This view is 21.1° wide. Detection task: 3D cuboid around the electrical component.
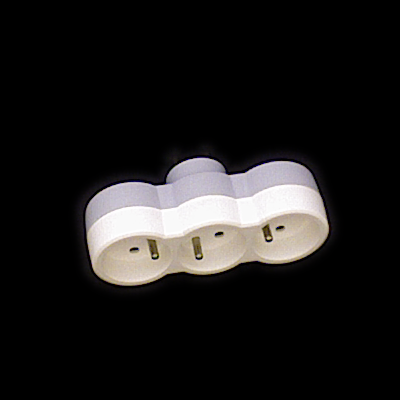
[{"bbox_3d":[0.000,0.000,0.631,0.138,0.073,0.052,-8,-39,-6],"label":"electrical component"}]
